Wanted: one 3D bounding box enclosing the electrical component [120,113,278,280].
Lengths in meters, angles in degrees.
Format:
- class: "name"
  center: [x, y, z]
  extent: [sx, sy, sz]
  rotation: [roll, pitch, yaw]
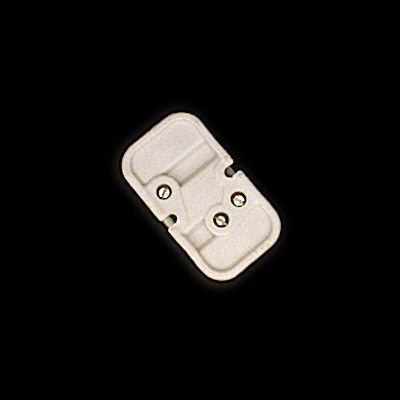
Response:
- class: "electrical component"
  center: [0.000, 0.000, 0.637]
  extent: [0.054, 0.095, 0.059]
  rotation: [-40, -5, -3]
